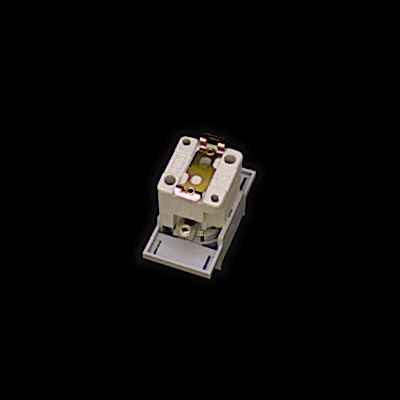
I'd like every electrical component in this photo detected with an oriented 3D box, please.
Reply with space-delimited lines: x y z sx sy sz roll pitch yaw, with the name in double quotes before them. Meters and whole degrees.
"electrical component" 0.000 0.000 0.627 0.042 0.080 0.064 16 -36 12
